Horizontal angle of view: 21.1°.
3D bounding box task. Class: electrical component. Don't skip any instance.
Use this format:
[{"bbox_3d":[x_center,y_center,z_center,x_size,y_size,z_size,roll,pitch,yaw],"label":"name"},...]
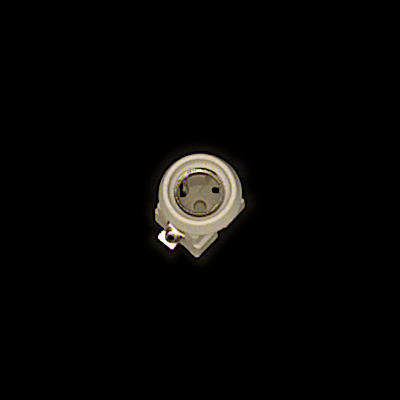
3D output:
[{"bbox_3d":[0.000,0.000,0.637,0.048,0.067,0.055,39,-13,12],"label":"electrical component"}]
